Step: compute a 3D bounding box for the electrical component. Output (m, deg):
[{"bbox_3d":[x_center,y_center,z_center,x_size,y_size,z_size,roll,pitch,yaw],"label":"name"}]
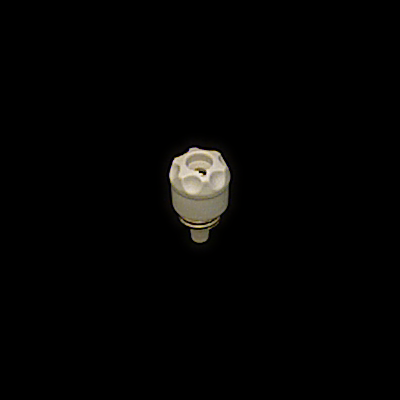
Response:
[{"bbox_3d":[0.000,0.000,0.636,0.035,0.062,0.035,0,43,0],"label":"electrical component"}]
